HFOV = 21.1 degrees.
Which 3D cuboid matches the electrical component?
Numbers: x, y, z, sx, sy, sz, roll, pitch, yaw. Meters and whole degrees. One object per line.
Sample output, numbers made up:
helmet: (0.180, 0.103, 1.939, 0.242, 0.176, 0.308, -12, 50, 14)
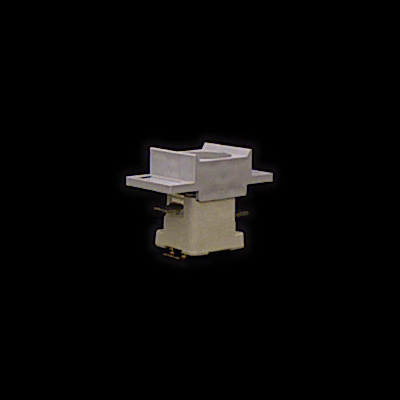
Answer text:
electrical component: (0.000, 0.000, 0.646, 0.081, 0.064, 0.042, -8, 13, -40)
